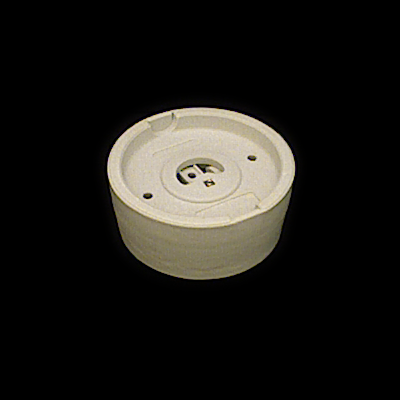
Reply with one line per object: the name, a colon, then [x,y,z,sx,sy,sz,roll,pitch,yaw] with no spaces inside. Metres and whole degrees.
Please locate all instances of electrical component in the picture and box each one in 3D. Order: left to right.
electrical component: [0.000,0.000,0.637,0.108,0.061,0.107,1,42,0]
